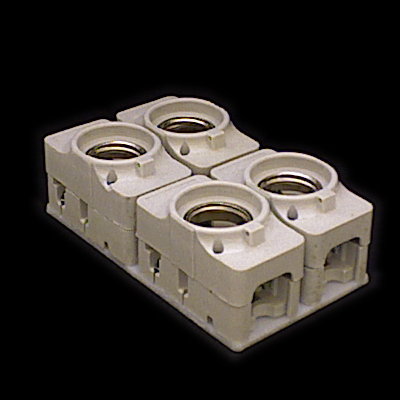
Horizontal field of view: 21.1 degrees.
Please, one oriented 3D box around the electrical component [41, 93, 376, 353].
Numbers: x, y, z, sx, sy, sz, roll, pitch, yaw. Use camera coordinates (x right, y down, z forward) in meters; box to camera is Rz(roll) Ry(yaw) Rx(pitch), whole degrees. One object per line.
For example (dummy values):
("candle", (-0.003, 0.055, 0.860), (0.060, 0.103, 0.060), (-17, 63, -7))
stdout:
("electrical component", (0.000, 0.000, 0.634), (0.105, 0.061, 0.184), (-23, 39, -34))
